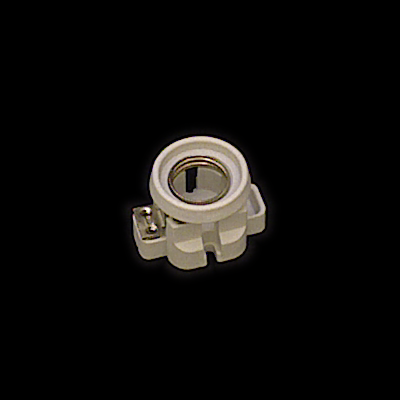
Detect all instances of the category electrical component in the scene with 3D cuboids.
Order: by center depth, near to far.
[{"bbox_3d":[0.000,0.000,0.628,0.079,0.057,0.057,-14,-36,-11],"label":"electrical component"}]
